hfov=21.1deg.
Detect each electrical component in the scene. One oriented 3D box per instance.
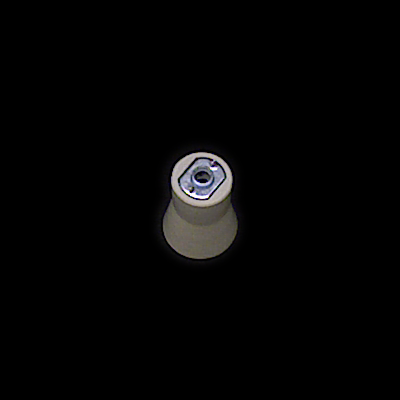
[{"bbox_3d":[0.000,0.000,0.624,0.044,0.044,0.065,0,-27,-1],"label":"electrical component"}]
